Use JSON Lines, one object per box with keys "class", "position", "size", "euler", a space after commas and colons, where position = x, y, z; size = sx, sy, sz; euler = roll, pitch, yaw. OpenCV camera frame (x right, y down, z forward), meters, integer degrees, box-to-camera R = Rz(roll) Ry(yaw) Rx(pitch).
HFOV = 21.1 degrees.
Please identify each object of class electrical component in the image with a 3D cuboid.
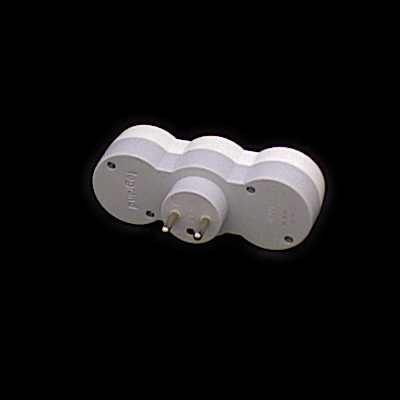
{"class": "electrical component", "position": [0.000, 0.000, 0.636], "size": [0.138, 0.053, 0.073], "euler": [10, 35, 13]}
